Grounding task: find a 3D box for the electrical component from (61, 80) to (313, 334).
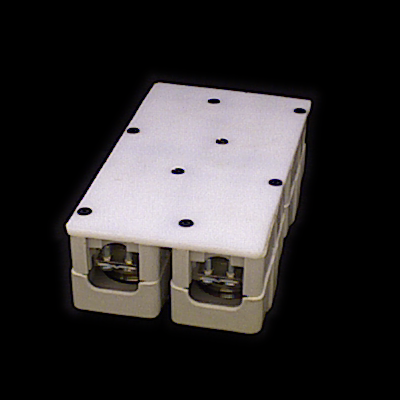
[{"bbox_3d":[0.000,0.000,0.634,0.105,0.061,0.184,7,32,10],"label":"electrical component"}]
